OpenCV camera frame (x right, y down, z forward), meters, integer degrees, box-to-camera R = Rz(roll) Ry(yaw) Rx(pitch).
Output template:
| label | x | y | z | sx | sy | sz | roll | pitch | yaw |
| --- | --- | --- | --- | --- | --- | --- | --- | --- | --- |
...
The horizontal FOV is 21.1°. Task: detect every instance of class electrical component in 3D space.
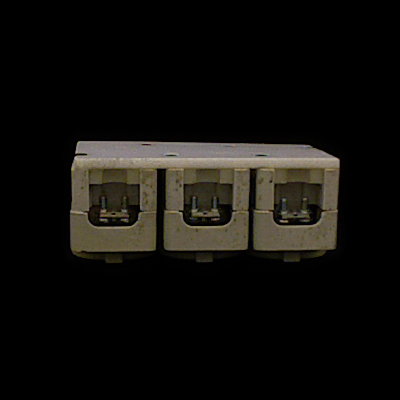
| label | x | y | z | sx | sy | sz | roll | pitch | yaw |
| --- | --- | --- | --- | --- | --- | --- | --- | --- | --- |
| electrical component | 0.000 | 0.000 | 0.648 | 0.150 | 0.062 | 0.088 | 0 | 10 | -5 |
